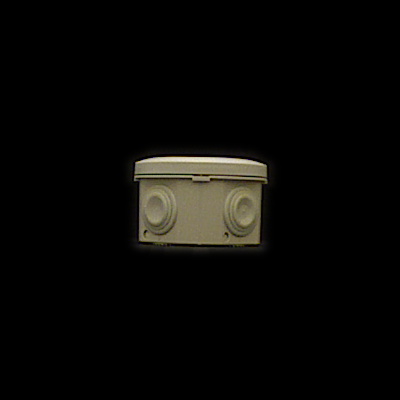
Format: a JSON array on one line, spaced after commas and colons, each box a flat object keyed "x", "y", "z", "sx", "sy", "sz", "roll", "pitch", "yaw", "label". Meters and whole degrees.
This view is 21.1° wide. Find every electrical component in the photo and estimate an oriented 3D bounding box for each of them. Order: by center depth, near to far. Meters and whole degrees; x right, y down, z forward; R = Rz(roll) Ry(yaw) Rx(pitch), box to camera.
[{"x": 0.000, "y": 0.000, "z": 0.649, "sx": 0.080, "sy": 0.051, "sz": 0.080, "roll": 1, "pitch": 0, "yaw": 0, "label": "electrical component"}]
